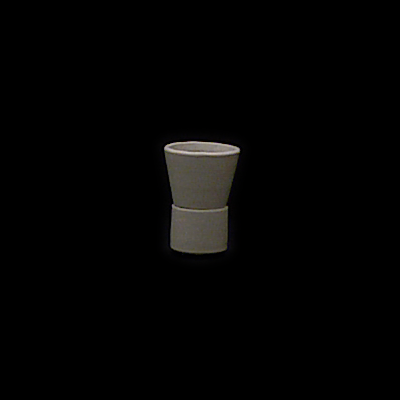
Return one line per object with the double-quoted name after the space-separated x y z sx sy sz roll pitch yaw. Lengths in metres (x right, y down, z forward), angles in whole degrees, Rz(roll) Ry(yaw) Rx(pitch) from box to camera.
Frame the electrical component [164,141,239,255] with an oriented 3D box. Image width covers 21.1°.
0.000 0.000 0.643 0.044 0.066 0.044 2 12 0 "electrical component"
